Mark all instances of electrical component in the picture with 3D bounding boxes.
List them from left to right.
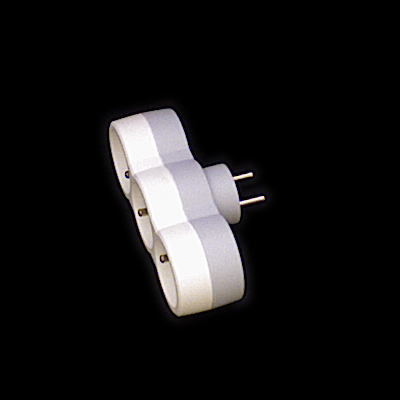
[{"bbox_3d":[0.000,0.000,0.633,0.074,0.137,0.052,-15,-37,-14],"label":"electrical component"}]
